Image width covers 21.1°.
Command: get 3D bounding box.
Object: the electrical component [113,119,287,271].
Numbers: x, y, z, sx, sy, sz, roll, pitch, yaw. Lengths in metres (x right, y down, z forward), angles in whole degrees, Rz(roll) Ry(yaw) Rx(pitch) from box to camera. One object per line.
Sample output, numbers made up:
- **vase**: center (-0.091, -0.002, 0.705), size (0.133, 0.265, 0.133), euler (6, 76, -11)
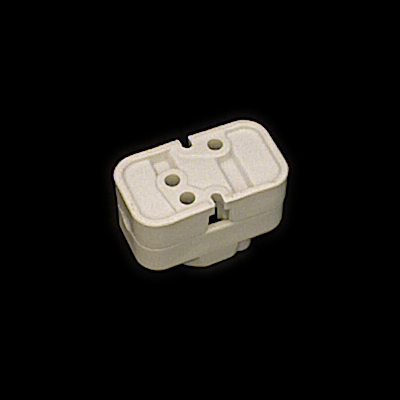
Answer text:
- **electrical component**: center (0.000, 0.000, 0.635), size (0.095, 0.053, 0.059), euler (-19, -35, -15)
